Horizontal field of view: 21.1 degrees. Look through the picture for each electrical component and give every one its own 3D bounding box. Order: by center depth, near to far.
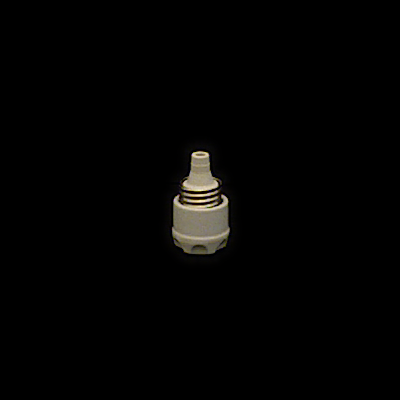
[{"bbox_3d":[0.000,0.000,0.651,0.035,0.062,0.034,-1,23,0],"label":"electrical component"}]
